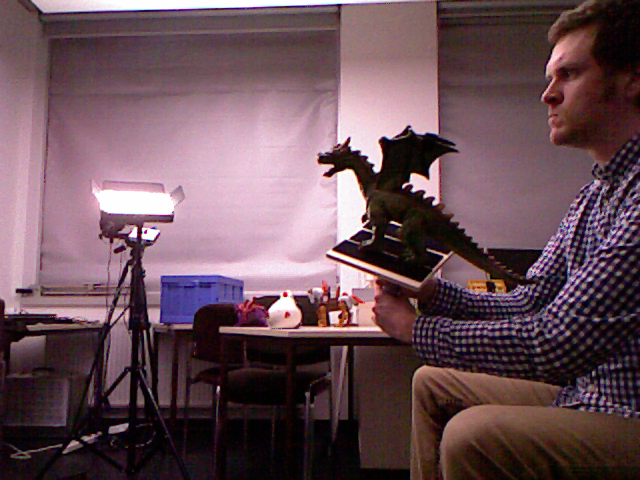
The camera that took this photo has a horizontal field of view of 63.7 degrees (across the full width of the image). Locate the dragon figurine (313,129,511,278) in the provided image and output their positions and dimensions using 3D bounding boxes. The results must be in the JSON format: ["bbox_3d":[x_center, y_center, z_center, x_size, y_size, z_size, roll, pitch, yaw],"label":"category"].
[{"bbox_3d":[0.175,-0.086,0.973,0.413,0.238,0.125,18,39,22],"label":"dragon figurine"}]
